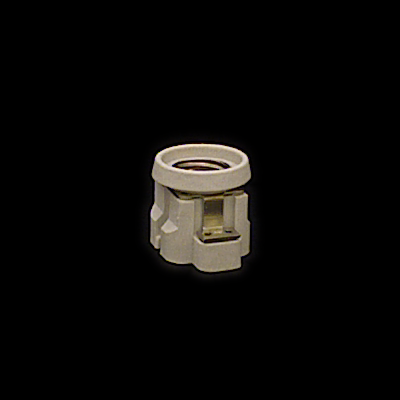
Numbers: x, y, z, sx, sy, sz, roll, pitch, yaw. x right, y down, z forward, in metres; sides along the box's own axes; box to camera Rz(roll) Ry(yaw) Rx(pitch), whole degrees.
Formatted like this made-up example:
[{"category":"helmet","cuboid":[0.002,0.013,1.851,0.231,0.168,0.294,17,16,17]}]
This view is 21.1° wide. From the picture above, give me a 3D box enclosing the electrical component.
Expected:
[{"category":"electrical component","cuboid":[0.000,0.000,0.638,0.058,0.057,0.077,-7,22,-19]}]
